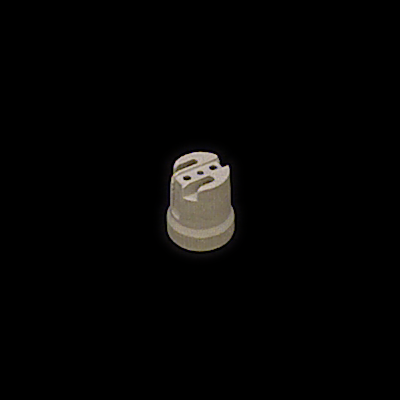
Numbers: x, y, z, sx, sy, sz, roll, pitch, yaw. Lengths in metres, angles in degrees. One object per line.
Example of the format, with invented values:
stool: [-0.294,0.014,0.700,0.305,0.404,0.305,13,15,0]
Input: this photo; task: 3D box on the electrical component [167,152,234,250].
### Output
electrical component: [0.000,0.000,0.636,0.040,0.046,0.040,1,42,0]
